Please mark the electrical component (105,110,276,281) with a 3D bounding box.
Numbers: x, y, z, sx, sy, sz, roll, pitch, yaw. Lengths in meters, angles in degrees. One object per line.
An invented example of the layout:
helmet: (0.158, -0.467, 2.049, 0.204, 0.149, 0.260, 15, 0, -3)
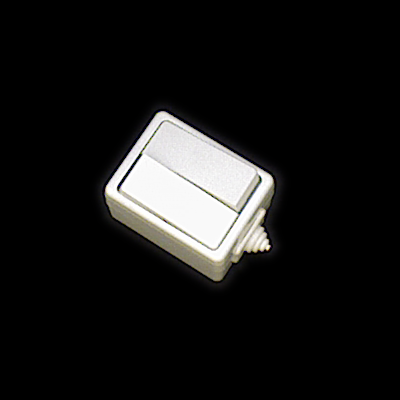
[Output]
electrical component: (0.000, 0.000, 0.626, 0.096, 0.062, 0.060, 32, -14, 9)
